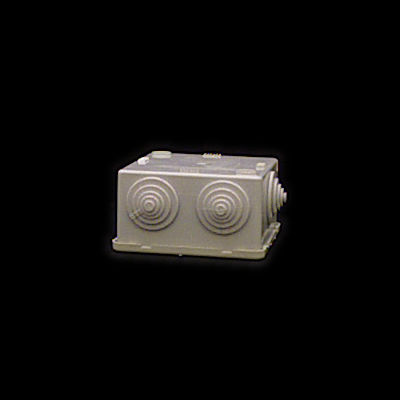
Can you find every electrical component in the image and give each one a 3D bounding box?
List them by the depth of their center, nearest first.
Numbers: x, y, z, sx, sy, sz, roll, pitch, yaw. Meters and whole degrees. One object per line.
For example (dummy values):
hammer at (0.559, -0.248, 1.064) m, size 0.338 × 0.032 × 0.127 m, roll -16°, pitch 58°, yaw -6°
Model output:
electrical component at (0.000, 0.000, 0.645) m, size 0.099 × 0.049 × 0.099 m, roll 3°, pitch 11°, yaw 10°
